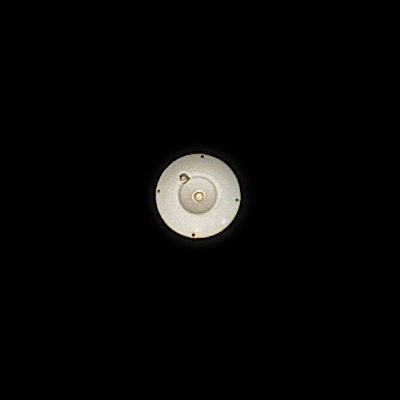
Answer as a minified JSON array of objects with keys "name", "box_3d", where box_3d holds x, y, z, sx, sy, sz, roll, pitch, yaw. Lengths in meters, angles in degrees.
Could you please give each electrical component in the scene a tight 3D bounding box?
[{"name":"electrical component","box_3d":[0.000,0.000,0.634,0.048,0.048,0.061,0,-6,0]}]
